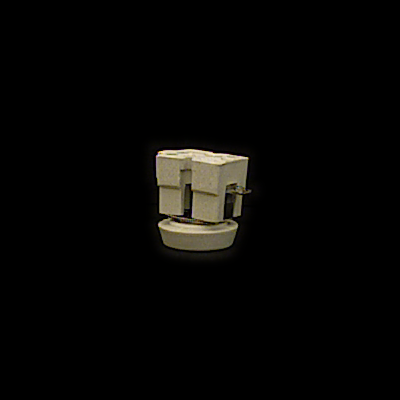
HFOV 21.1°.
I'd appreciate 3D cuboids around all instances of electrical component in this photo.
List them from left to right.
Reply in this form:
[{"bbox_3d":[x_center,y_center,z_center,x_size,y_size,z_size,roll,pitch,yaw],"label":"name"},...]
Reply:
[{"bbox_3d":[0.000,0.000,0.651,0.066,0.056,0.048,9,13,30],"label":"electrical component"}]
